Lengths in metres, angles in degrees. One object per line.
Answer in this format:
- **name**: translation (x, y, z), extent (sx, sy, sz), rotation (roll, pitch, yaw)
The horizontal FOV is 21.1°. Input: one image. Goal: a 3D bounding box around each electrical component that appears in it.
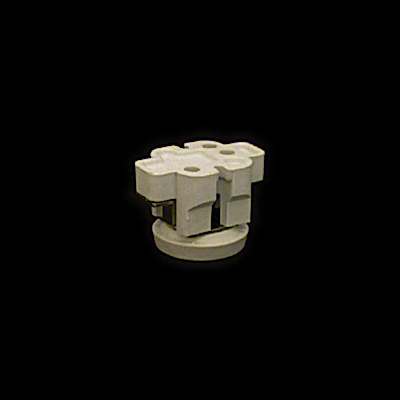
- **electrical component**: translation (0.000, 0.000, 0.644), extent (0.079, 0.057, 0.057), rotation (-14, 27, -30)
